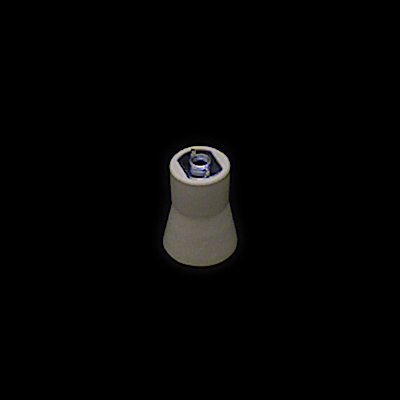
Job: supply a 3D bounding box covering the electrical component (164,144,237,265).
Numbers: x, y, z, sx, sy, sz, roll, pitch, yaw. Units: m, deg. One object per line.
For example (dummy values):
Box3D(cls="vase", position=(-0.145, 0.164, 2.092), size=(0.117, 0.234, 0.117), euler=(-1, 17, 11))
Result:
Box3D(cls="electrical component", position=(0.000, 0.000, 0.629), size=(0.044, 0.066, 0.044), euler=(0, 42, 0))
